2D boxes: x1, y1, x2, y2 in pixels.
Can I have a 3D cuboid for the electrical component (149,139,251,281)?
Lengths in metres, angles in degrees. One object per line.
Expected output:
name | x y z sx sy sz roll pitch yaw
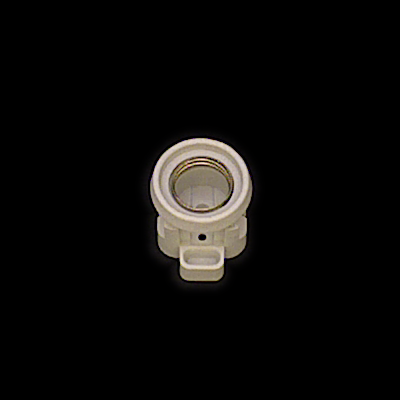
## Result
electrical component | 0.000 0.000 0.629 0.058 0.078 0.057 0 -27 0
